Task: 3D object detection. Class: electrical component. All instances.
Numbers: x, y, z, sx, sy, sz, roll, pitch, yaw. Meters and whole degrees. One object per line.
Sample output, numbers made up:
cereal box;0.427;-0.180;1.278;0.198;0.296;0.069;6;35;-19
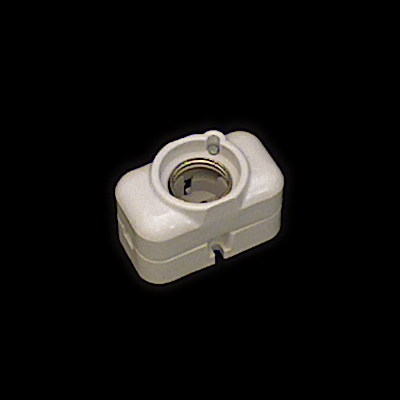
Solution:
electrical component;0.000;0.000;0.636;0.095;0.053;0.059;-22;-33;-17
